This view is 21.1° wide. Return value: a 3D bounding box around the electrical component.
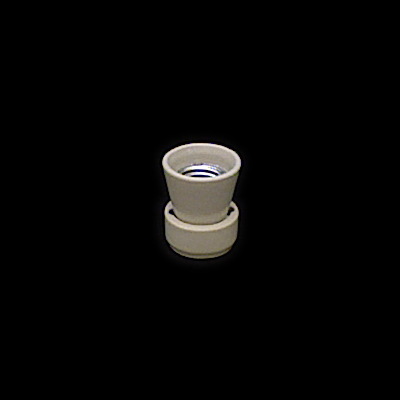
[{"bbox_3d":[0.000,0.000,0.636,0.045,0.056,0.044,1,31,0],"label":"electrical component"}]
